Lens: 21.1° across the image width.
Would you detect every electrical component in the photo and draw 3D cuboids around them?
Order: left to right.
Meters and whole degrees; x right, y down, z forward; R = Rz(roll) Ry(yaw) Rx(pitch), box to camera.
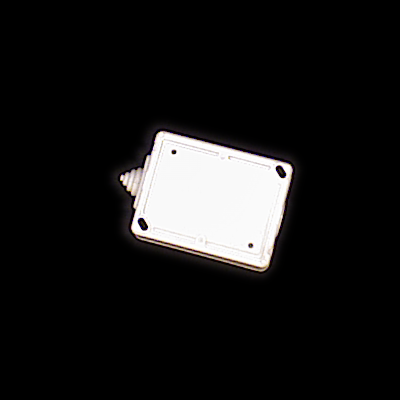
[{"bbox_3d":[0.000,0.000,0.630,0.096,0.062,0.061,15,-6,3],"label":"electrical component"}]
